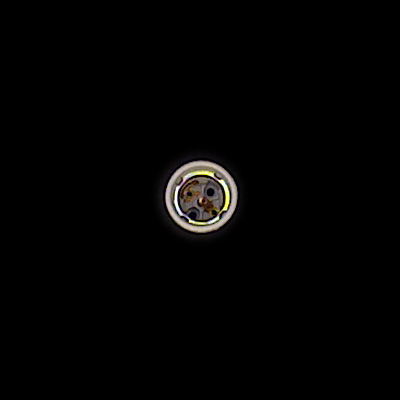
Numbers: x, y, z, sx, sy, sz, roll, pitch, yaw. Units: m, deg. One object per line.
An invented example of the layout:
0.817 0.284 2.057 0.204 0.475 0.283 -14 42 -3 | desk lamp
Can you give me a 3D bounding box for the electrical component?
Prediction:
0.000 0.000 0.628 0.040 0.040 0.046 0 -7 0 | electrical component
